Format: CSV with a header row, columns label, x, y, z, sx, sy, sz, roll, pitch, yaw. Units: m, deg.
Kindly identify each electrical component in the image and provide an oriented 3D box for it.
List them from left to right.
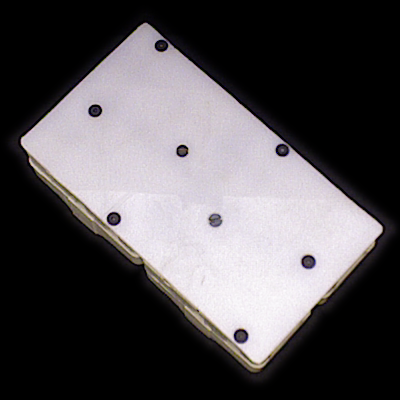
label,x,y,z,sx,sy,sz,roll,pitch,yaw
electrical component,0.000,0.000,0.625,0.186,0.106,0.060,42,-12,11
